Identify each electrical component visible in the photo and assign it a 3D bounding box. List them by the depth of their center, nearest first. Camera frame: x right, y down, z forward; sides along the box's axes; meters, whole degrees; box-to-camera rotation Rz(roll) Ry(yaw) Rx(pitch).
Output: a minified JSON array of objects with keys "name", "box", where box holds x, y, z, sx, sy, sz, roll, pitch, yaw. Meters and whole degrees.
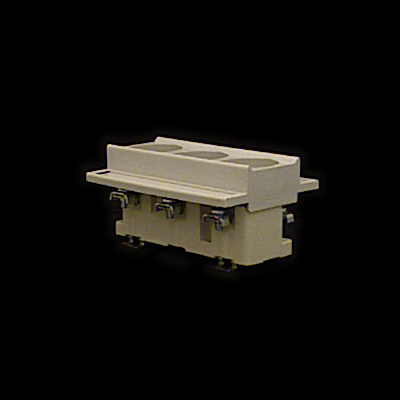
[{"name":"electrical component","box":[0.000,0.000,0.655,0.078,0.063,0.120,-12,17,-43]}]
